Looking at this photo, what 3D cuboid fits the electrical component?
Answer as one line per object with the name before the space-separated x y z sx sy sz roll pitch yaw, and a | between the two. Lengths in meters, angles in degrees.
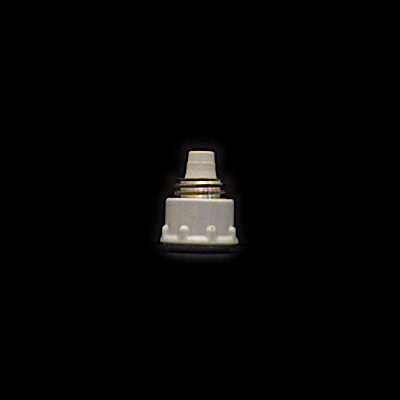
electrical component | 0.000 0.000 0.658 0.048 0.062 0.048 2 1 1
